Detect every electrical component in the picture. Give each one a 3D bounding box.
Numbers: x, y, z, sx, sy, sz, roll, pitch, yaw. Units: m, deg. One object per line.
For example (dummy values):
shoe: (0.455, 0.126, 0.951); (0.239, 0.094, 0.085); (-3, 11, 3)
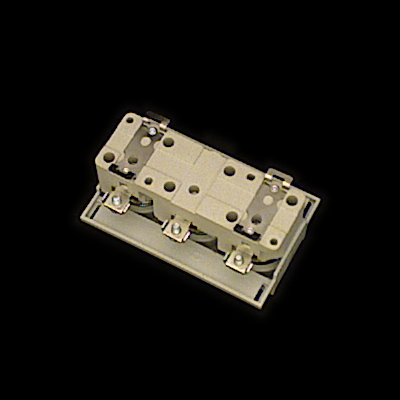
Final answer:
electrical component: (0.000, 0.000, 0.635); (0.121, 0.079, 0.063); (26, -25, 12)
